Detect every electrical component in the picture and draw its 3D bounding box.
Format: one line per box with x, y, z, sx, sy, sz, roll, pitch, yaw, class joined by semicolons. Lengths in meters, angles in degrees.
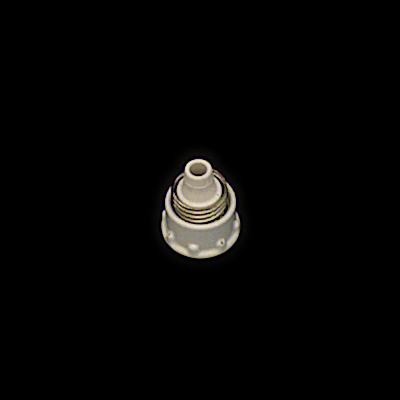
0.000;0.000;0.634;0.048;0.048;0.062;0;-38;1;electrical component
